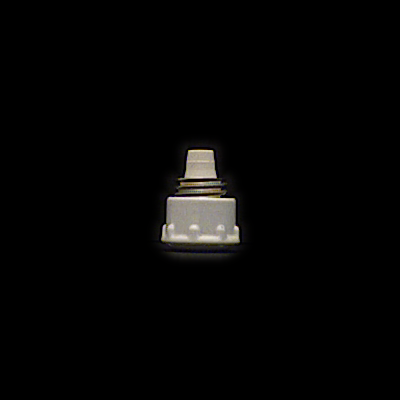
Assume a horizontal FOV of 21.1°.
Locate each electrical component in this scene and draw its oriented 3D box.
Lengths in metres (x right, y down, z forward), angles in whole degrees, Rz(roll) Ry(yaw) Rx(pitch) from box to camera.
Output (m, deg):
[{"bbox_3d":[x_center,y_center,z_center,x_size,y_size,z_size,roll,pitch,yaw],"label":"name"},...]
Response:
[{"bbox_3d":[0.000,0.000,0.655,0.048,0.062,0.048,0,1,1],"label":"electrical component"}]
